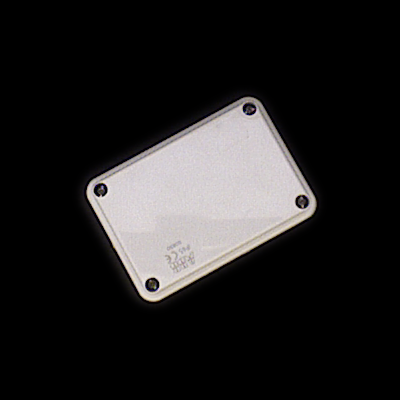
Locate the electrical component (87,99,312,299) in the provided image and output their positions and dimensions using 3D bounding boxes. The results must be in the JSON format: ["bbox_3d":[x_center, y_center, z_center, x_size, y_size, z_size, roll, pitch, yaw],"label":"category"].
[{"bbox_3d":[0.000,0.000,0.627,0.113,0.078,0.057,-29,-6,-3],"label":"electrical component"}]
